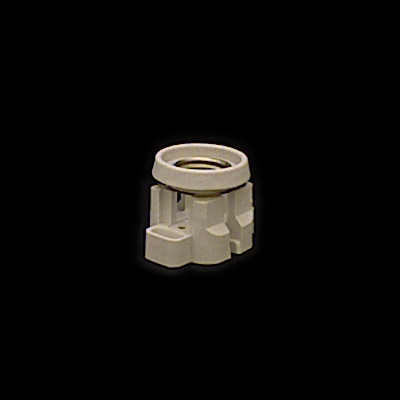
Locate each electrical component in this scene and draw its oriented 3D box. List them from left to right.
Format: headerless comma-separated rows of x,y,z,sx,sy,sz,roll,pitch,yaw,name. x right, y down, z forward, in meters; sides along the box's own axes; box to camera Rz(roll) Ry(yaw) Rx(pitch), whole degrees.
0.000,0.000,0.641,0.057,0.057,0.078,18,26,37,electrical component
